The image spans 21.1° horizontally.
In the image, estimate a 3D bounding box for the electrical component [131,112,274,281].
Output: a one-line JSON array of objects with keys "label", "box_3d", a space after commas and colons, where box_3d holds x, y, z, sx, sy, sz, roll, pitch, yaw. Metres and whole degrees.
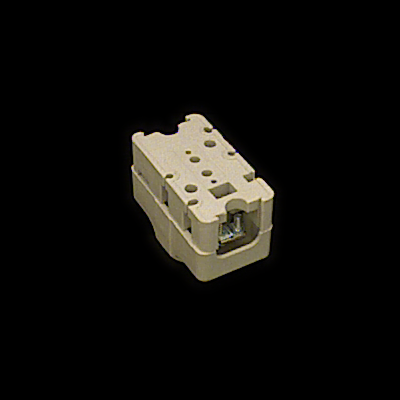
[{"label": "electrical component", "box_3d": [0.000, 0.000, 0.640, 0.050, 0.056, 0.088, -21, 47, -22]}]
